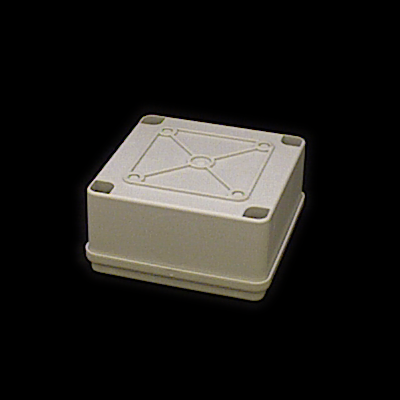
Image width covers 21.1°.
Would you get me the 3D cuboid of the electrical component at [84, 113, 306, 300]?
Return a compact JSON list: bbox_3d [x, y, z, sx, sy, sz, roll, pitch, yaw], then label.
[{"bbox_3d":[0.000,0.000,0.637,0.108,0.057,0.107,10,32,13],"label":"electrical component"}]
